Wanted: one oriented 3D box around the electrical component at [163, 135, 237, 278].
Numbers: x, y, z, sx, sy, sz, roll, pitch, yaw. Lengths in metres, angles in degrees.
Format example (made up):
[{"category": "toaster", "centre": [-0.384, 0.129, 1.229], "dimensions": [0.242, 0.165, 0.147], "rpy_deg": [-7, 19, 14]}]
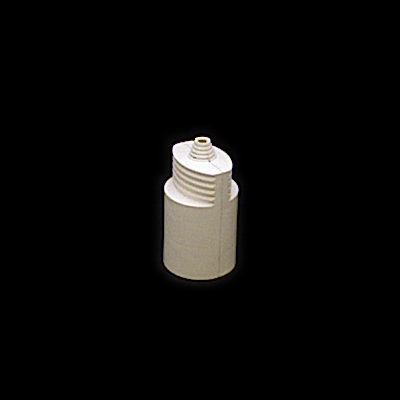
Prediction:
[{"category": "electrical component", "centre": [0.000, 0.000, 0.628], "dimensions": [0.043, 0.082, 0.042], "rpy_deg": [1, 31, 0]}]
